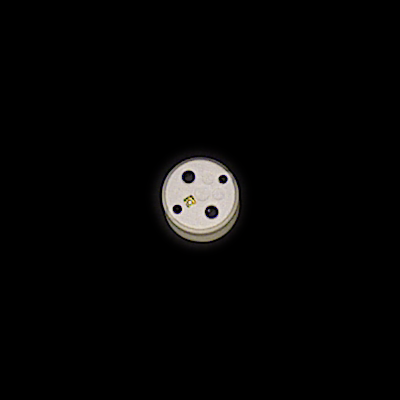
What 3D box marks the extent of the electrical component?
[{"bbox_3d":[0.000,0.000,0.630,0.045,0.045,0.055,0,-7,0],"label":"electrical component"}]
